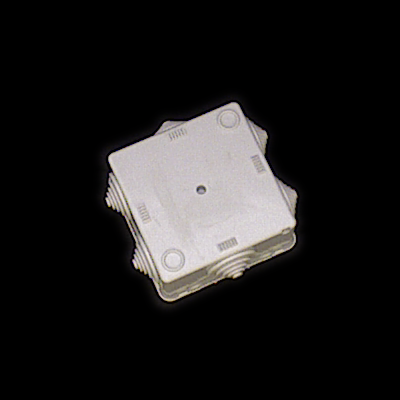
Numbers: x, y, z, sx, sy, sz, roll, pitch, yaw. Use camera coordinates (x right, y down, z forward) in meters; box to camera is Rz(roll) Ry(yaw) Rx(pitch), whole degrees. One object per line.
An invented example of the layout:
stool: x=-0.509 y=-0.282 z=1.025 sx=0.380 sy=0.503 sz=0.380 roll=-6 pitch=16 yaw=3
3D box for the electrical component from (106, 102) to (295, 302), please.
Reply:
electrical component: x=0.000 y=0.000 z=0.631 sx=0.100 sy=0.100 sz=0.048 roll=-23 pitch=-15 yaw=-7
